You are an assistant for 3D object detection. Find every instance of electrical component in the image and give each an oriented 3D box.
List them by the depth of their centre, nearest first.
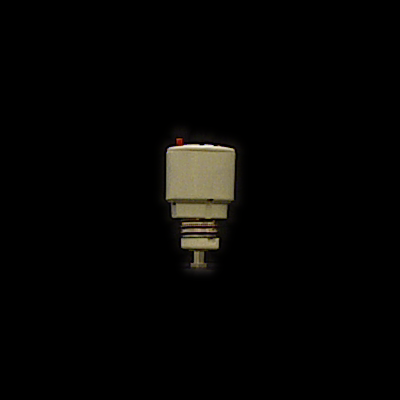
[{"bbox_3d":[0.000,0.000,0.649,0.040,0.078,0.040,1,2,0],"label":"electrical component"}]
